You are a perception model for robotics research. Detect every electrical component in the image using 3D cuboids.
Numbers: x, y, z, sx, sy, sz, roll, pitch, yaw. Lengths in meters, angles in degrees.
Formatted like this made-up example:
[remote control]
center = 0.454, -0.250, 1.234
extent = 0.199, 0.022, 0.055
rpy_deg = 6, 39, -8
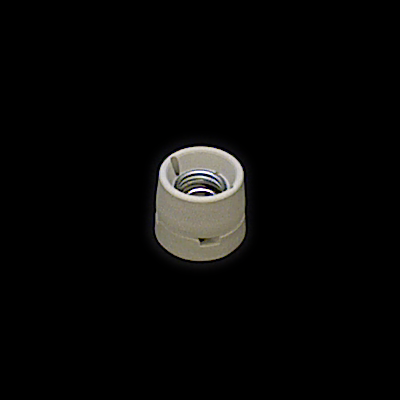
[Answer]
[electrical component]
center = 0.000, 0.000, 0.635
extent = 0.055, 0.047, 0.055
rpy_deg = 1, 43, -1
